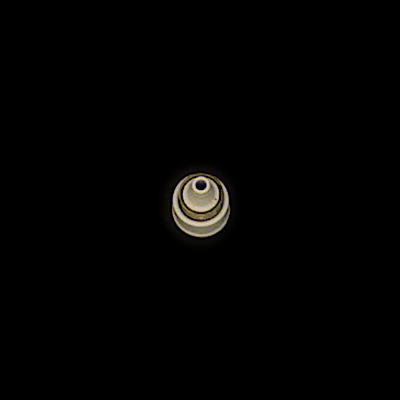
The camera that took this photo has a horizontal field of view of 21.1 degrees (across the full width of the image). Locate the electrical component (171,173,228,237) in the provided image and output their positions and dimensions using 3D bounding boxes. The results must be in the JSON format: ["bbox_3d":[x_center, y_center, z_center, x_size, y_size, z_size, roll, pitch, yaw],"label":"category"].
[{"bbox_3d":[0.000,0.000,0.637,0.035,0.035,0.061,0,-17,0],"label":"electrical component"}]
